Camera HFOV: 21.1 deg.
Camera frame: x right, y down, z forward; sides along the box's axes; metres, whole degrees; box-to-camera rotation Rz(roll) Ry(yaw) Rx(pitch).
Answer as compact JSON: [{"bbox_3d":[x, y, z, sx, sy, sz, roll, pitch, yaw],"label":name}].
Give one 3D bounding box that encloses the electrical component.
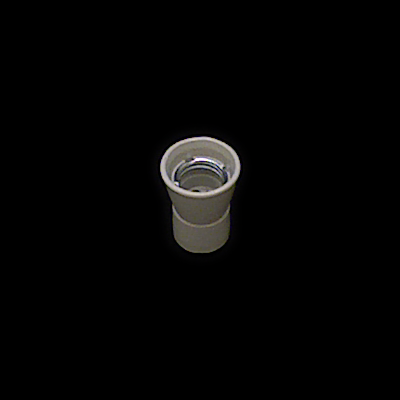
[{"bbox_3d":[0.000,0.000,0.627,0.044,0.044,0.065,0,-38,1],"label":"electrical component"}]
